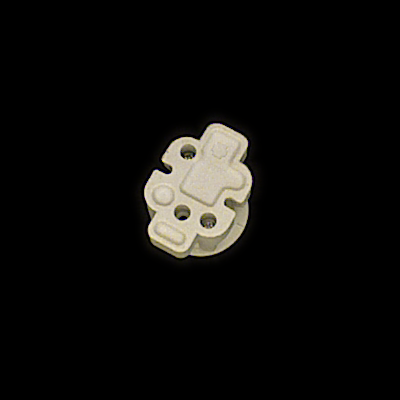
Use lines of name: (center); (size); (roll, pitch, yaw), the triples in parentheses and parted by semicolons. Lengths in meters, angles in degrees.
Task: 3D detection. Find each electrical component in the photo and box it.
electrical component: (0.000, 0.000, 0.636); (0.058, 0.079, 0.056); (27, -16, 8)
